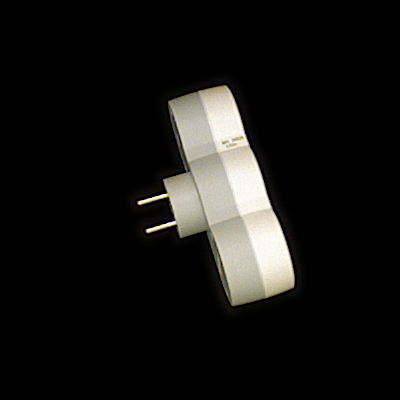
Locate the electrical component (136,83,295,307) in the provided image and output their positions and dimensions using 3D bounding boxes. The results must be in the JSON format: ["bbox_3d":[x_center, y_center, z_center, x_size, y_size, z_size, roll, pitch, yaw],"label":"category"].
[{"bbox_3d":[0.000,0.000,0.638,0.074,0.138,0.052,-15,-25,-6],"label":"electrical component"}]
